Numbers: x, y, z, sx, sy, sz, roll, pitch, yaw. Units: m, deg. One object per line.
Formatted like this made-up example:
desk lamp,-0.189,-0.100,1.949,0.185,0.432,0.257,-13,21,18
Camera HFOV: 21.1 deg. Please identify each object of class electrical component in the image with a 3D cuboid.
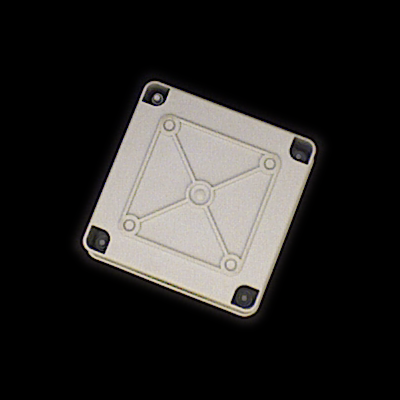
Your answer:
electrical component,0.000,0.000,0.629,0.109,0.109,0.056,21,-7,3
